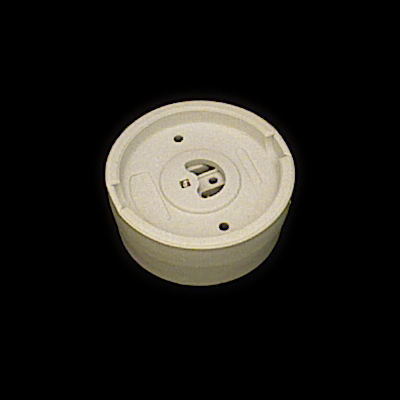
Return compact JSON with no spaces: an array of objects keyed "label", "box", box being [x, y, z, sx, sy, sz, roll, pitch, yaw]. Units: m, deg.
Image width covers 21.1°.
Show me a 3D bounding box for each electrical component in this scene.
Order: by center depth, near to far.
[{"label":"electrical component","box":[0.000,0.000,0.633,0.108,0.107,0.060,0,-37,-1]}]
